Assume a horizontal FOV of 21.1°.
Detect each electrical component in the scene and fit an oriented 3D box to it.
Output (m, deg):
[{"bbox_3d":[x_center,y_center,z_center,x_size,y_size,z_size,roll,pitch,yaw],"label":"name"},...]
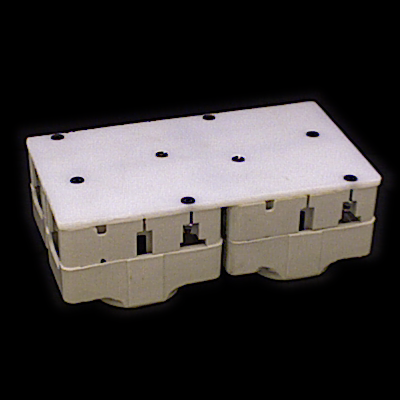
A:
[{"bbox_3d":[0.000,0.000,0.634,0.186,0.061,0.104,-8,33,-15],"label":"electrical component"}]
